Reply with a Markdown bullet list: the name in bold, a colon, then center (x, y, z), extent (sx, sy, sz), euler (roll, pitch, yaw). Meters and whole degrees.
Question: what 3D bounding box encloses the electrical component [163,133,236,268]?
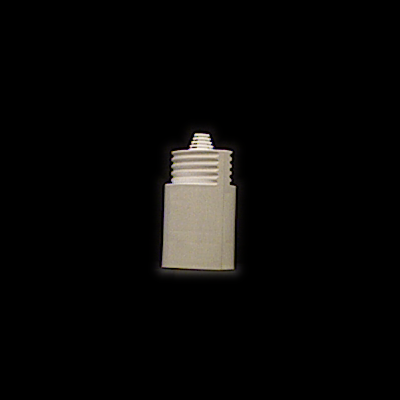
- **electrical component**: center (0.000, 0.000, 0.649), extent (0.043, 0.081, 0.043), euler (1, 1, 0)
